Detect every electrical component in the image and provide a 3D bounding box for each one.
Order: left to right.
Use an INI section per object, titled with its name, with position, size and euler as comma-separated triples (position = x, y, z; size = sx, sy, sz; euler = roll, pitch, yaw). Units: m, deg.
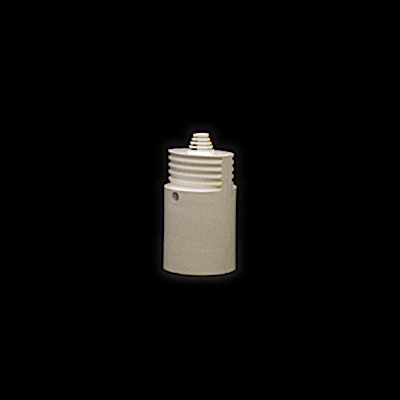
[electrical component]
position = 0.000, 0.000, 0.643
size = 0.043, 0.081, 0.043
euler = 1, 11, 0
